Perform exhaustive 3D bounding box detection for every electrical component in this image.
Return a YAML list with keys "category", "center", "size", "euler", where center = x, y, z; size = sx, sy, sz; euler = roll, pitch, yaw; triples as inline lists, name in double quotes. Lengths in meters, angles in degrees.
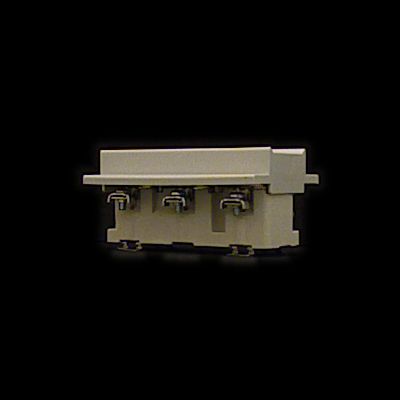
- category: "electrical component"
  center: [0.000, 0.000, 0.660]
  size: [0.121, 0.063, 0.079]
  euler: [2, 2, 33]
